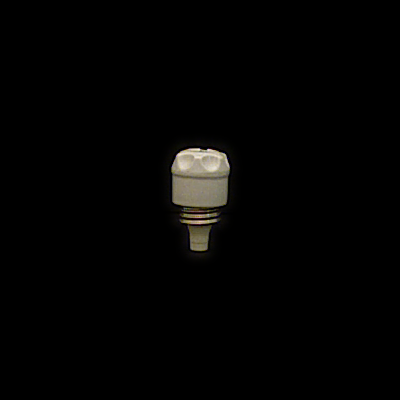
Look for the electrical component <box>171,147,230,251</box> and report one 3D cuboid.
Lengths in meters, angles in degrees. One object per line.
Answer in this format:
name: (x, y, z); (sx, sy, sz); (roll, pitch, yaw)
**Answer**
electrical component: (0.000, 0.000, 0.653); (0.035, 0.062, 0.035); (1, 12, 0)
